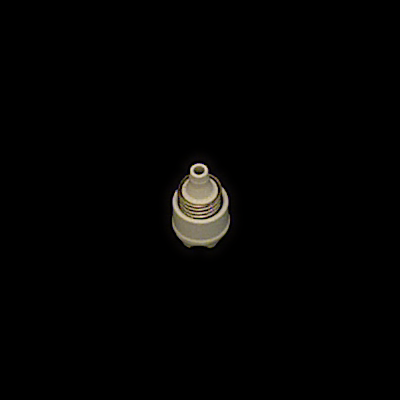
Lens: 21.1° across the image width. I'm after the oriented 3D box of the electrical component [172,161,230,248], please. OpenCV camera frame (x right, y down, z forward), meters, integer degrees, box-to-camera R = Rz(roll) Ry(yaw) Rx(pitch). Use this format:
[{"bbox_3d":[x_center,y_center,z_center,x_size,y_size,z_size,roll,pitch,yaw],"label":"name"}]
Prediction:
[{"bbox_3d":[0.000,0.000,0.639,0.035,0.035,0.062,0,-36,2],"label":"electrical component"}]
